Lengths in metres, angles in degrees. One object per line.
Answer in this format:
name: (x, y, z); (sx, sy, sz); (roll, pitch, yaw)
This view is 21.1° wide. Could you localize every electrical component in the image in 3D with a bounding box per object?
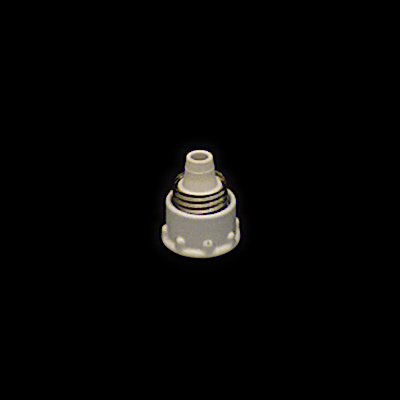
electrical component: (0.000, 0.000, 0.640); (0.048, 0.063, 0.047); (0, 31, 1)
